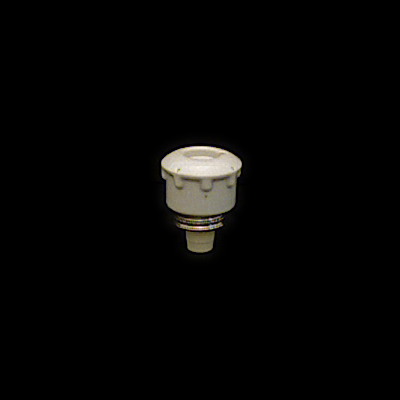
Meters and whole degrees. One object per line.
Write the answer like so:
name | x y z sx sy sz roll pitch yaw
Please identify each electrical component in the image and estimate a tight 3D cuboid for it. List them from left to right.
electrical component | 0.000 0.000 0.648 0.048 0.063 0.047 1 22 0
